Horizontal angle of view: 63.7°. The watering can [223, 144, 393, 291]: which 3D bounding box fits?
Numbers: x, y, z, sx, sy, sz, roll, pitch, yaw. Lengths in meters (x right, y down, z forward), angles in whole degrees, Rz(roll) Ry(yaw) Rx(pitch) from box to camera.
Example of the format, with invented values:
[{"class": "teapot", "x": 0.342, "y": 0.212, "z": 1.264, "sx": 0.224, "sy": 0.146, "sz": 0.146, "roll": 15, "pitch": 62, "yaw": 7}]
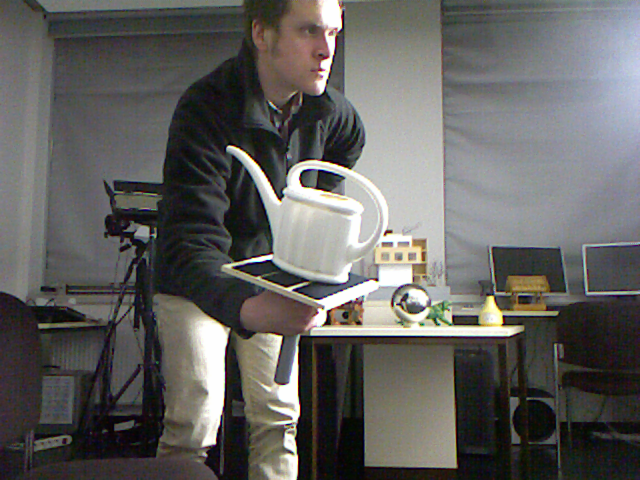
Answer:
[{"class": "watering can", "x": -0.040, "y": -0.040, "z": 0.898, "sx": 0.350, "sy": 0.222, "sz": 0.105, "roll": 19, "pitch": 16, "yaw": 26}]
